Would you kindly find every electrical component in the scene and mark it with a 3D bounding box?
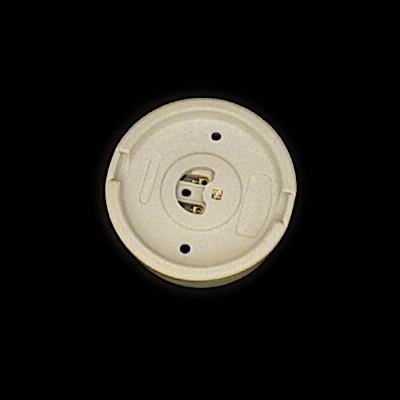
[{"bbox_3d":[0.000,0.000,0.634,0.108,0.108,0.060,0,-16,1],"label":"electrical component"}]
